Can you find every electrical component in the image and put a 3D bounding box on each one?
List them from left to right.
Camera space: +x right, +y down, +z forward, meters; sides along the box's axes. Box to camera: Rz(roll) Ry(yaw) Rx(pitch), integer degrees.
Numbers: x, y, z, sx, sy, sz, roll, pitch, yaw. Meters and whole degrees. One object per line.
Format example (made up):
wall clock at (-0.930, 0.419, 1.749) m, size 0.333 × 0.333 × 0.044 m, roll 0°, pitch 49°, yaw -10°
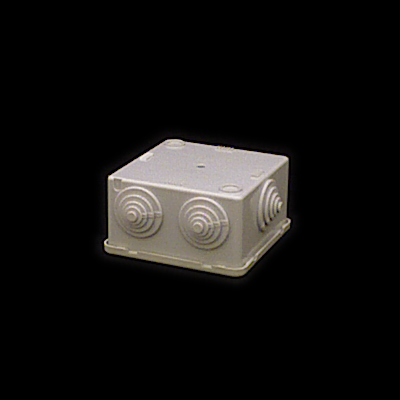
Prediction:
electrical component at (0.000, 0.000, 0.641) m, size 0.099 × 0.049 × 0.099 m, roll 10°, pitch 22°, yaw 21°
